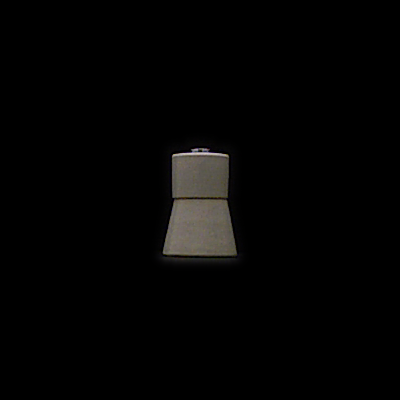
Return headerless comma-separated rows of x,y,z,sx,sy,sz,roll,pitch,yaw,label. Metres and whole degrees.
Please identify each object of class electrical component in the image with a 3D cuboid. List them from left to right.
0.000,0.000,0.650,0.044,0.065,0.044,0,1,0,electrical component
